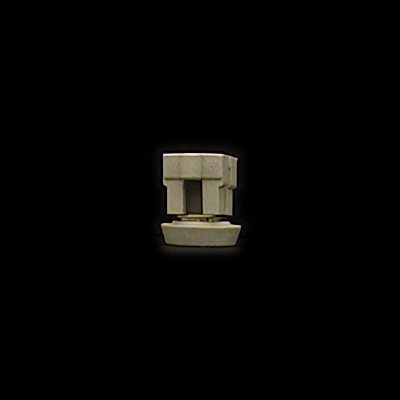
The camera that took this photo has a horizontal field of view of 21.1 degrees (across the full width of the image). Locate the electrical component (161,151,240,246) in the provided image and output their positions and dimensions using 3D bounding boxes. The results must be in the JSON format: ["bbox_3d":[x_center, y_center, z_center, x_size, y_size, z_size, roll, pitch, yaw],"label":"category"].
[{"bbox_3d":[0.000,0.000,0.655,0.048,0.055,0.067,0,1,14],"label":"electrical component"}]
